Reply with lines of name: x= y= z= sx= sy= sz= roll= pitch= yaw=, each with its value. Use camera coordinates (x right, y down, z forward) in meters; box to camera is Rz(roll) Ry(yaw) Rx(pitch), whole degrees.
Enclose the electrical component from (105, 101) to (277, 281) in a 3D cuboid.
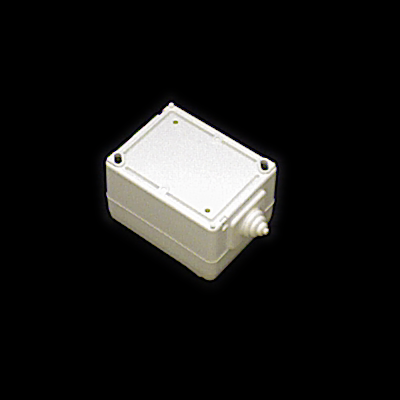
electrical component: x=0.000 y=0.000 z=0.626 sx=0.096 sy=0.061 sz=0.061 roll=32 pitch=58 yaw=22
